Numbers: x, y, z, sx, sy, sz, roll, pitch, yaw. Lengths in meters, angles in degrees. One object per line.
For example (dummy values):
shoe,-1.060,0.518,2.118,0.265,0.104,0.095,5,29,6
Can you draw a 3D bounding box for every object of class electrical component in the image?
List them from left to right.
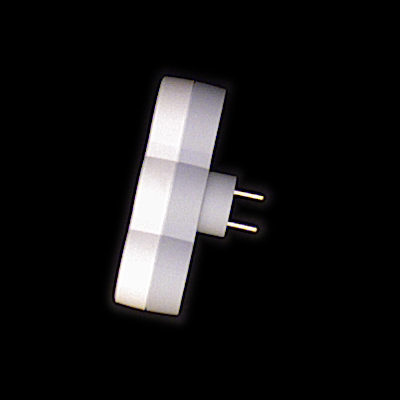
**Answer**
electrical component,0.000,0.000,0.632,0.074,0.138,0.052,12,-7,-1
